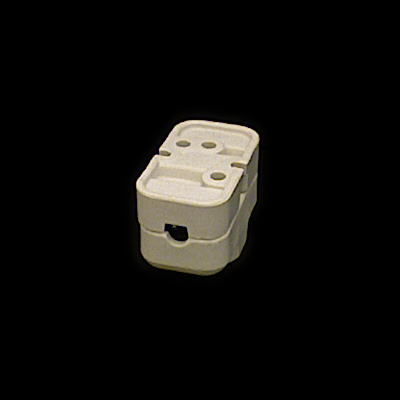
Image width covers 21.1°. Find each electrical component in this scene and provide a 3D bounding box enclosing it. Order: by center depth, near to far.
[{"bbox_3d":[0.000,0.000,0.640,0.053,0.060,0.094,9,34,13],"label":"electrical component"}]
